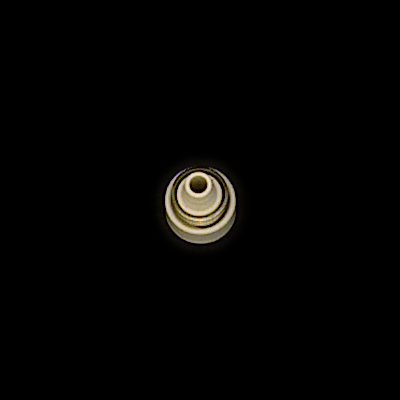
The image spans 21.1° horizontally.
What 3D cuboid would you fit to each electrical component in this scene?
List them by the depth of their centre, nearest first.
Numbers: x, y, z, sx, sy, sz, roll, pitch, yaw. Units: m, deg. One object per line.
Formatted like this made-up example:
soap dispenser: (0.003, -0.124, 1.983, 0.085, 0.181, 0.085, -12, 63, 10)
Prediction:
electrical component: (0.000, 0.000, 0.634, 0.043, 0.043, 0.061, 0, -17, 1)
